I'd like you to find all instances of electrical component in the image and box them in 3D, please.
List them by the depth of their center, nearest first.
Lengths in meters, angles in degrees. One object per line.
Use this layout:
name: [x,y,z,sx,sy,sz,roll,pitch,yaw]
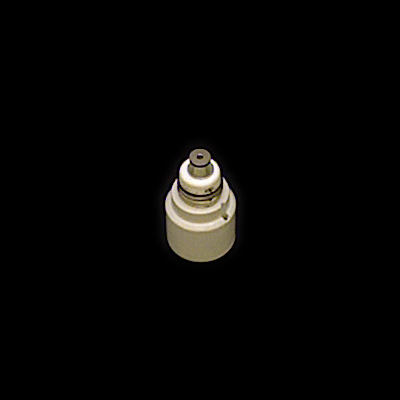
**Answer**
electrical component: [0.000,0.000,0.620,0.040,0.040,0.079,0,-38,1]
